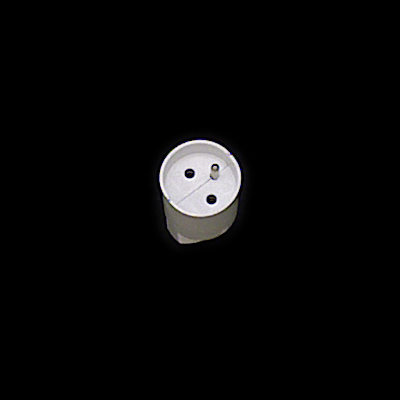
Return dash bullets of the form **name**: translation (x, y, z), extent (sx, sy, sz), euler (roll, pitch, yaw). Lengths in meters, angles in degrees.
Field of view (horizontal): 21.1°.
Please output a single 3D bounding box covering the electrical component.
- **electrical component**: translation (0.000, 0.000, 0.616), extent (0.043, 0.043, 0.080), euler (0, -17, -1)
